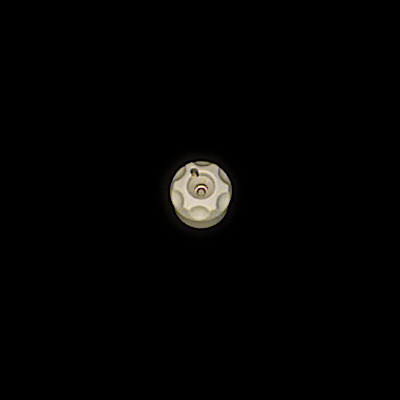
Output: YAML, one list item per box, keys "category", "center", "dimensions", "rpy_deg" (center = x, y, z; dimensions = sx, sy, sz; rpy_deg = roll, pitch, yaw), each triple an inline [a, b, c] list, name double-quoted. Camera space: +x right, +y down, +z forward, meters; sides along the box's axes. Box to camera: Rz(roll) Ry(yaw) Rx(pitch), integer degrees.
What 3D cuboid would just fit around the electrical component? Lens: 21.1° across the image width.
- category: "electrical component"
  center: [0.000, 0.000, 0.634]
  dimensions: [0.035, 0.035, 0.061]
  rpy_deg: [0, -16, 1]
